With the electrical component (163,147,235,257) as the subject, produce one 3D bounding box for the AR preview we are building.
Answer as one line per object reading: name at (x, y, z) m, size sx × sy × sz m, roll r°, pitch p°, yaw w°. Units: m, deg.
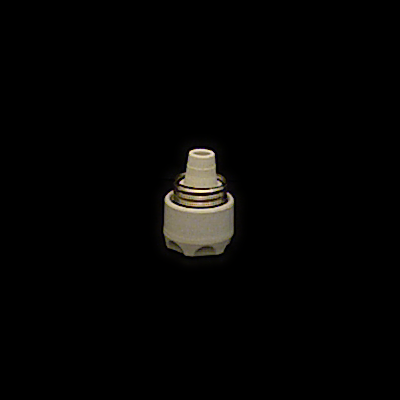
electrical component at (0.000, 0.000, 0.646) m, size 0.043 × 0.063 × 0.043 m, roll 2°, pitch 22°, yaw 0°
